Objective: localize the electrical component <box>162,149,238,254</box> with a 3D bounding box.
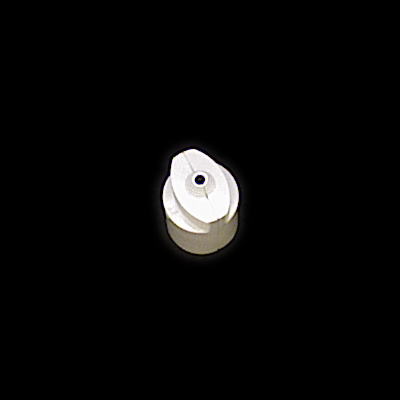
[{"bbox_3d":[0.000,0.000,0.616,0.043,0.043,0.080,0,-17,1],"label":"electrical component"}]
